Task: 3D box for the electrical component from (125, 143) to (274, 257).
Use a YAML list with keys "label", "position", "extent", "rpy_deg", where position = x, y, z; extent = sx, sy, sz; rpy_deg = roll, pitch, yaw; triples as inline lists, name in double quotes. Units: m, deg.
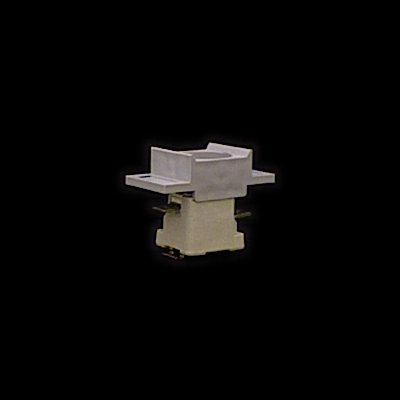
- label: "electrical component"
  position: [0.000, 0.000, 0.646]
  extent: [0.081, 0.064, 0.042]
  rpy_deg: [-7, 13, -35]
